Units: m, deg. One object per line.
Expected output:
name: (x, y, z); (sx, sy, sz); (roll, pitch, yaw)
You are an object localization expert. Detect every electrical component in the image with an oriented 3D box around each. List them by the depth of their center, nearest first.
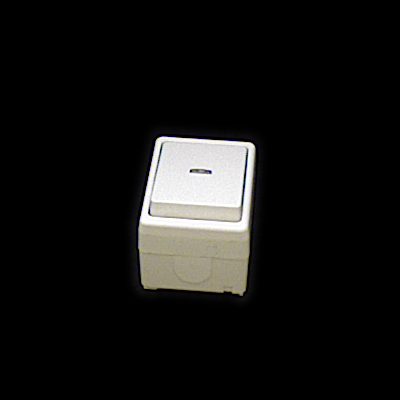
electrical component: (0.000, 0.000, 0.632); (0.062, 0.061, 0.095); (4, 42, 4)
